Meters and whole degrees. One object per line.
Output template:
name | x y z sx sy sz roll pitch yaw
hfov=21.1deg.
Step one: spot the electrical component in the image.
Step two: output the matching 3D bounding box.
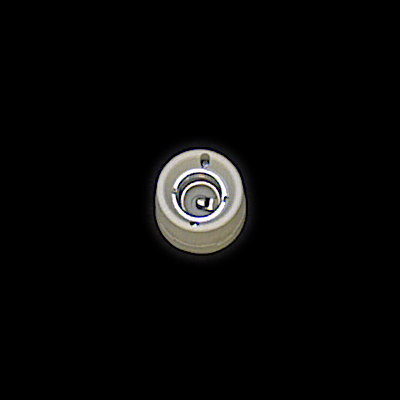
electrical component | 0.000 0.000 0.632 0.055 0.056 0.047 0 -16 1
